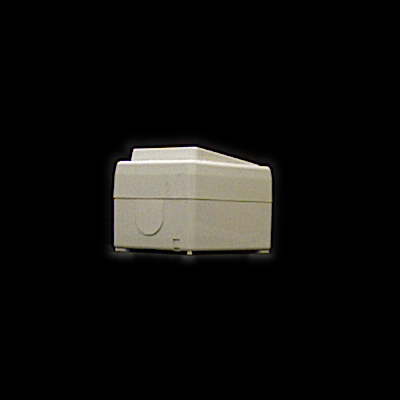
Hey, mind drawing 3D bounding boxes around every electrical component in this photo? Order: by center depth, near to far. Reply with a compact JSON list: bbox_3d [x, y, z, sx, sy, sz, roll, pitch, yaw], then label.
[{"bbox_3d":[0.000,0.000,0.652,0.061,0.061,0.096,2,0,39],"label":"electrical component"}]
